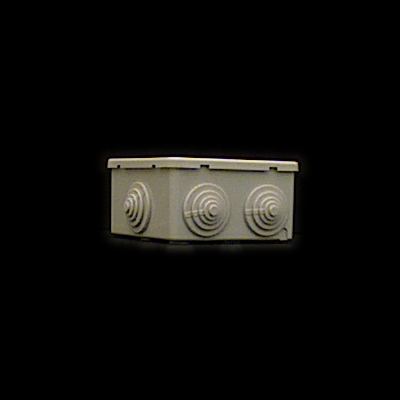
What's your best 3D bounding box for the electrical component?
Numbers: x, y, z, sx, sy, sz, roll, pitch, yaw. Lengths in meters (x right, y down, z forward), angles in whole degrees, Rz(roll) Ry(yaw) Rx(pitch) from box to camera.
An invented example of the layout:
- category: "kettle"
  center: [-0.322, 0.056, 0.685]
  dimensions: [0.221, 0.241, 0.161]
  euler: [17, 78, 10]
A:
- category: "electrical component"
  center: [0.000, 0.000, 0.655]
  dimensions: [0.100, 0.048, 0.098]
  euler: [1, 1, -30]
